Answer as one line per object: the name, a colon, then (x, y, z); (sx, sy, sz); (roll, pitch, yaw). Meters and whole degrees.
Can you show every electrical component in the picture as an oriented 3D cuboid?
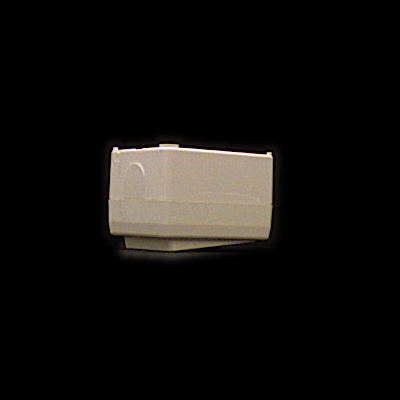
electrical component: (0.000, 0.000, 0.649); (0.096, 0.061, 0.061); (2, 0, -36)
